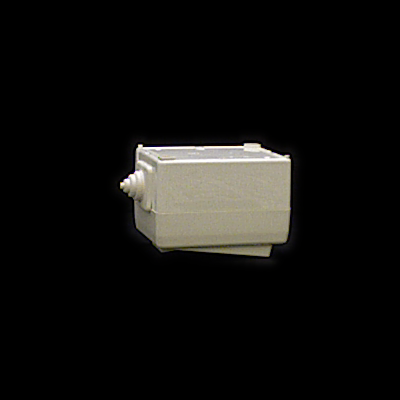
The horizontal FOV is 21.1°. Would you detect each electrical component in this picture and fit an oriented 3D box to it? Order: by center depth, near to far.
[{"bbox_3d":[0.000,0.000,0.640,0.096,0.061,0.061,-2,11,-17],"label":"electrical component"}]
